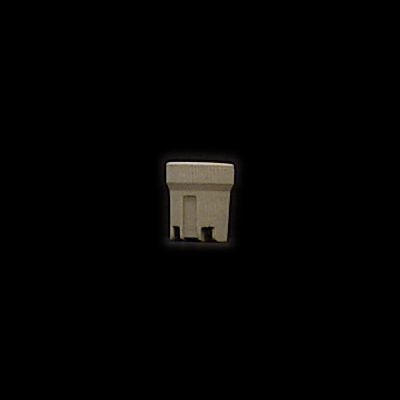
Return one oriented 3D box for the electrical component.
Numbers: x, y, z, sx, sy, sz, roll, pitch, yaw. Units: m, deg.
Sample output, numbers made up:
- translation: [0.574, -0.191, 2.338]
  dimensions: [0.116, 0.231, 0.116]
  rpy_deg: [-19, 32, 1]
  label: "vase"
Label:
- translation: [0.000, 0.000, 0.647]
  dimensions: [0.040, 0.046, 0.040]
  rpy_deg: [1, 1, 1]
  label: "electrical component"
